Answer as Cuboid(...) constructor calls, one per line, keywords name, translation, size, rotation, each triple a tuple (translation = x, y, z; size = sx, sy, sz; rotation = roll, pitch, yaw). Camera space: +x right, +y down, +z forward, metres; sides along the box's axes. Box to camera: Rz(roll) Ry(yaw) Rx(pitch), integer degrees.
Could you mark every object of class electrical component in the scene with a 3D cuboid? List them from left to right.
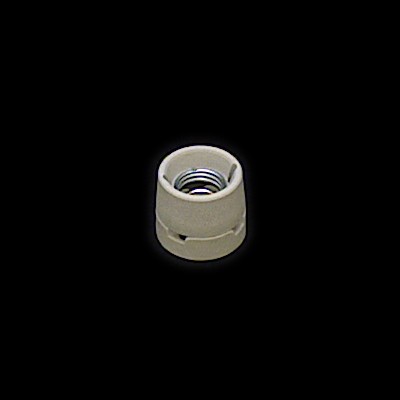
Cuboid(name="electrical component", translation=(0.000, 0.000, 0.636), size=(0.055, 0.047, 0.055), rotation=(0, 42, 0))
